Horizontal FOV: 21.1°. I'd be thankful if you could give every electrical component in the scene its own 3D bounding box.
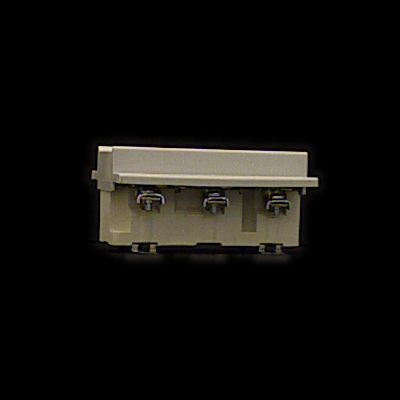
[{"bbox_3d":[0.000,0.000,0.661,0.122,0.063,0.078,1,2,-17],"label":"electrical component"}]
